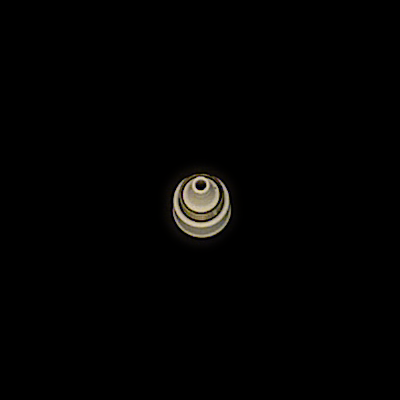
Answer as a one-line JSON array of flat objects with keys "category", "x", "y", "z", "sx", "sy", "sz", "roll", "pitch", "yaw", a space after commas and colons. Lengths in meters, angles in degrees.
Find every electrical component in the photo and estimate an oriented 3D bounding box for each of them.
[{"category": "electrical component", "x": 0.000, "y": 0.000, "z": 0.637, "sx": 0.035, "sy": 0.035, "sz": 0.061, "roll": 0, "pitch": -17, "yaw": 0}]
